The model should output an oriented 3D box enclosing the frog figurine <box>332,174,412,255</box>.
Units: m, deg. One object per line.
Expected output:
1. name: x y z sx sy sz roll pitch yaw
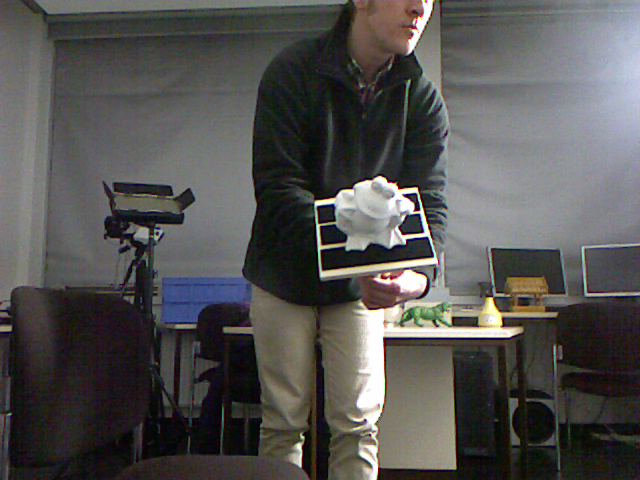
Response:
1. frog figurine: 0.087 -0.062 0.880 0.137 0.126 0.155 6 -43 13
